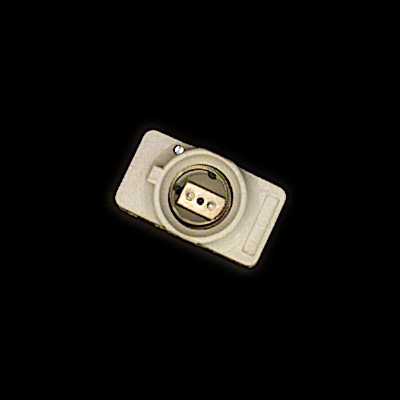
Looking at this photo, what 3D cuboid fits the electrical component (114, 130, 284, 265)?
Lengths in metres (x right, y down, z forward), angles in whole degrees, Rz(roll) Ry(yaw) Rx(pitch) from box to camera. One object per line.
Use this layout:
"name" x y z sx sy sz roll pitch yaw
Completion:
"electrical component" 0.000 0.000 0.637 0.089 0.050 0.055 25 -5 3
